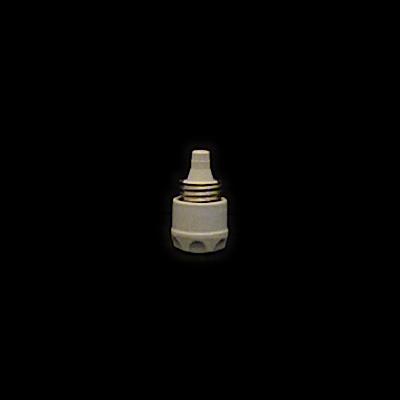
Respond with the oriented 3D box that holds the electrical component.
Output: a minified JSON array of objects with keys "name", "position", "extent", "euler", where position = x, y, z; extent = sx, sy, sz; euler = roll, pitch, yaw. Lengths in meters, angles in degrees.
[{"name":"electrical component","position":[0.000,0.000,0.655],"extent":[0.035,0.062,0.035],"euler":[1,10,0]}]
